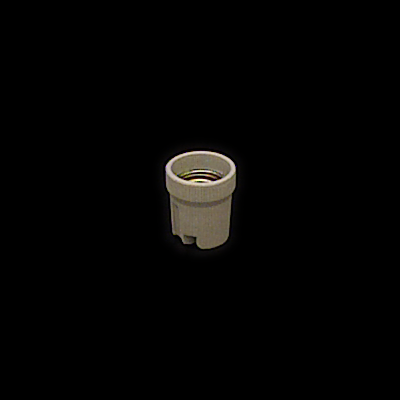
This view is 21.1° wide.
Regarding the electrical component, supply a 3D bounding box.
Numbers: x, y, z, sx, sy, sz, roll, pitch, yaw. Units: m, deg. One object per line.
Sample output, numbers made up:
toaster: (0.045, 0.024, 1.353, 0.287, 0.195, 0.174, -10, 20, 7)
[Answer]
electrical component: (0.000, 0.000, 0.635, 0.040, 0.047, 0.039, 1, 32, 0)
